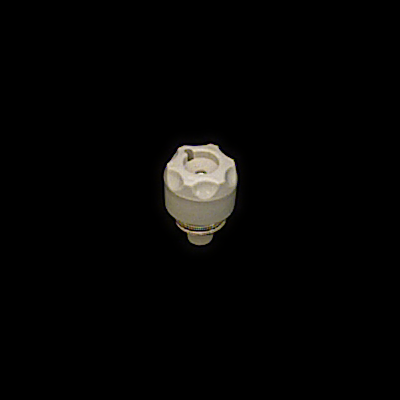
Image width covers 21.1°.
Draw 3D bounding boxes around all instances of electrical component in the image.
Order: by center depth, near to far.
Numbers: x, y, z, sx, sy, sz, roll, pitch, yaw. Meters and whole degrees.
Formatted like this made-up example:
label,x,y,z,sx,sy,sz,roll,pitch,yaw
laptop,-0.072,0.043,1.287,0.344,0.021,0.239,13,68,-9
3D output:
label,x,y,z,sx,sy,sz,roll,pitch,yaw
electrical component,0.000,0.000,0.638,0.043,0.062,0.043,1,43,0
